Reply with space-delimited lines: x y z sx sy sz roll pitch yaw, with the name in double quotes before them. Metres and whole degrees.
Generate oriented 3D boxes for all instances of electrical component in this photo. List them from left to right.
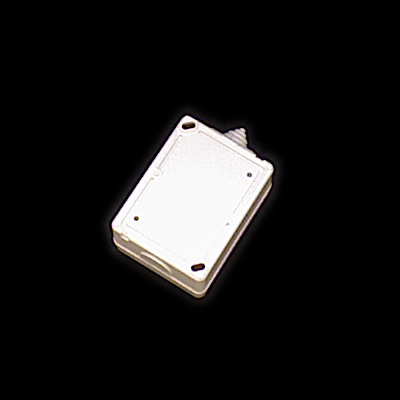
"electrical component" 0.000 0.000 0.628 0.062 0.096 0.060 31 -15 9
